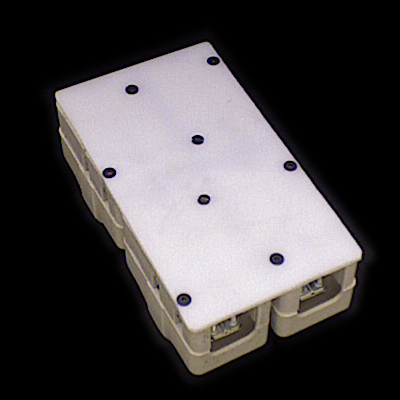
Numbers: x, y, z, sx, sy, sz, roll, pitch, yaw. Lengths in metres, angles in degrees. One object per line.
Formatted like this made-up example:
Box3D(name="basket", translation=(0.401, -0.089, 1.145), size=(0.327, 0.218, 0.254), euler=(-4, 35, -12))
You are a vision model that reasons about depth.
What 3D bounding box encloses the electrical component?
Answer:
Box3D(name="electrical component", translation=(0.000, 0.000, 0.627), size=(0.105, 0.185, 0.060), euler=(-22, -35, -17))
